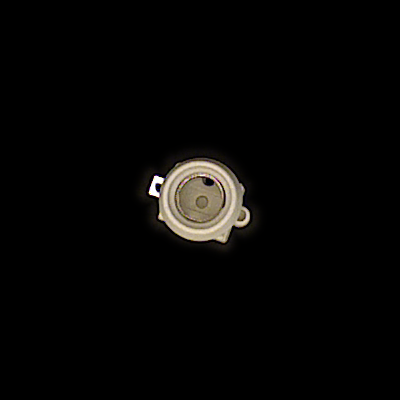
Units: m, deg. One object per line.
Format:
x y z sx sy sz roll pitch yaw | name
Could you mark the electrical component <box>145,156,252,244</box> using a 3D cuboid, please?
0.000 0.000 0.639 0.066 0.048 0.055 18 -7 2 | electrical component
